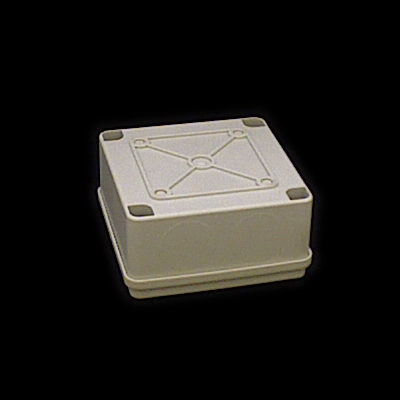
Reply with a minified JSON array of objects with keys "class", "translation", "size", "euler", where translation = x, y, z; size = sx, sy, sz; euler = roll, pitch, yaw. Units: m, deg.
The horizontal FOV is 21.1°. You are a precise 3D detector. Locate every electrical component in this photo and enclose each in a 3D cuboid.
[{"class":"electrical component","translation":[0.000,0.000,0.635],"size":[0.109,0.057,0.107],"euler":[-6,33,-12]}]
